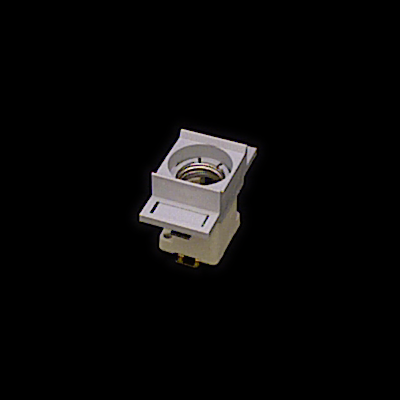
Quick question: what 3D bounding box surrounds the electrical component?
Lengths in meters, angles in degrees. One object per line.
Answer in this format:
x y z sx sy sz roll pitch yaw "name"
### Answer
0.000 0.000 0.631 0.042 0.064 0.080 15 44 17 "electrical component"
